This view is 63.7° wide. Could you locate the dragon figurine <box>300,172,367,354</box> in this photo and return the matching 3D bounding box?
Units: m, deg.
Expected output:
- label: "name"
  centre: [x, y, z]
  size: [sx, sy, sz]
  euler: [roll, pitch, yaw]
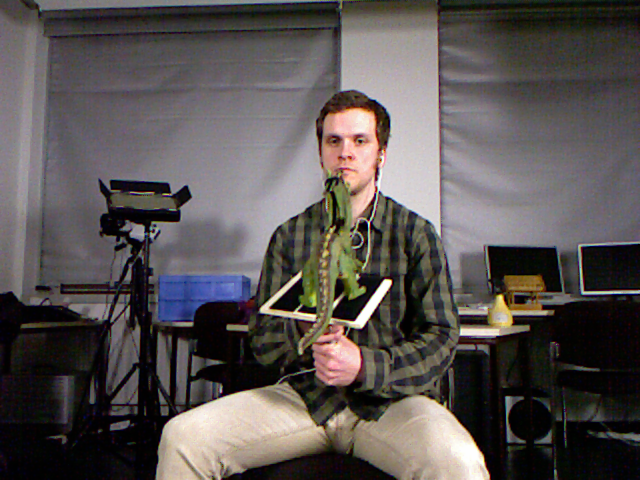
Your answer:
- label: "dragon figurine"
  centre: [0.020, -0.004, 0.952]
  size: [0.122, 0.239, 0.418]
  euler: [0, 23, 7]
